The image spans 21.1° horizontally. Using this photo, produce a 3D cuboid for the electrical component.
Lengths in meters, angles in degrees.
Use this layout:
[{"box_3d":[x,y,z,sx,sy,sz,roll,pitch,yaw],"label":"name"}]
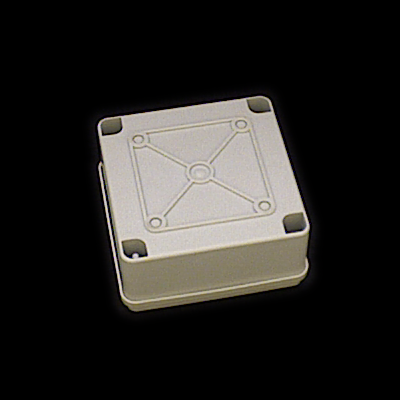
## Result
[{"box_3d":[0.000,0.000,0.627,0.109,0.108,0.056,-9,-37,-7],"label":"electrical component"}]
